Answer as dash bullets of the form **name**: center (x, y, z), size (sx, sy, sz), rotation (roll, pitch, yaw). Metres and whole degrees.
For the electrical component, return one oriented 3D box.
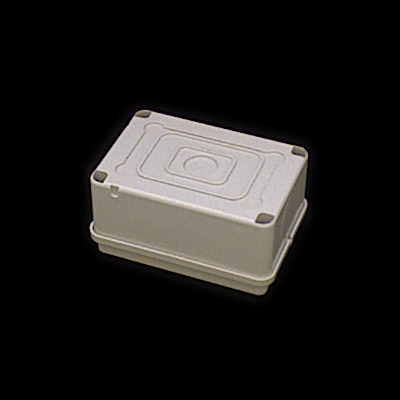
- **electrical component**: center (0.000, 0.000, 0.632), size (0.113, 0.057, 0.077), rotation (15, 44, 15)
